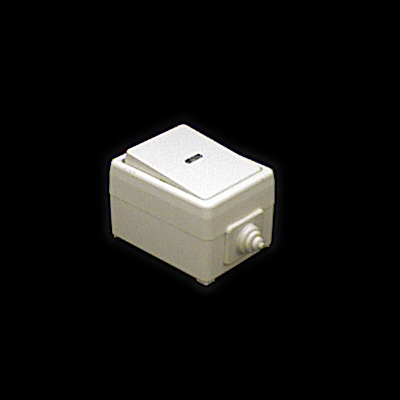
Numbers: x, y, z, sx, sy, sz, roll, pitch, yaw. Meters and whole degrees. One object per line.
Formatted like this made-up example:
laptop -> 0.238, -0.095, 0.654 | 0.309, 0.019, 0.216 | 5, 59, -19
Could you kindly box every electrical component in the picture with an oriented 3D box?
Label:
electrical component -> 0.000, 0.000, 0.632 | 0.095, 0.061, 0.061 | 25, 39, 35
